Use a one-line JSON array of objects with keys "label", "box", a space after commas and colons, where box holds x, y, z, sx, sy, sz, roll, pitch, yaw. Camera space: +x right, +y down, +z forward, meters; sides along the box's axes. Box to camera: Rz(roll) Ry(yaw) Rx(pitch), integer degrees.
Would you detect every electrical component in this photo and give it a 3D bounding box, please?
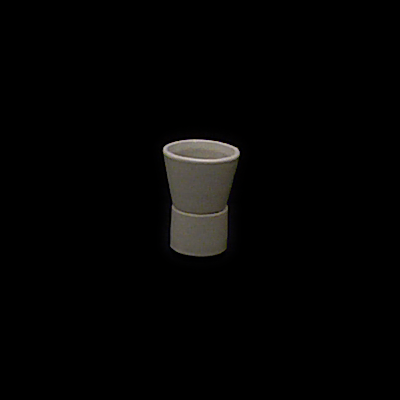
[{"label": "electrical component", "box": [0.000, 0.000, 0.640, 0.044, 0.066, 0.044, 1, 20, 0]}]
